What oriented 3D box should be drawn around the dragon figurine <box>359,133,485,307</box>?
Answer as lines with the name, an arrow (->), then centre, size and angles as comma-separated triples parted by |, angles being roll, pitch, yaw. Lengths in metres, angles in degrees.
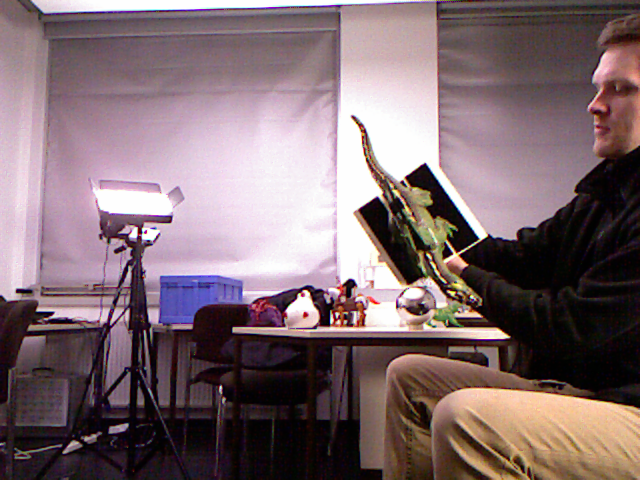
dragon figurine -> 0.171, -0.045, 0.975 | 0.122, 0.413, 0.244 | -36, -5, 10
